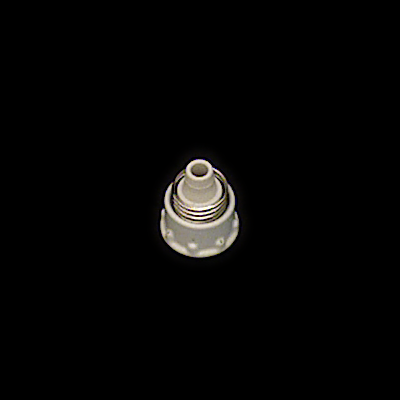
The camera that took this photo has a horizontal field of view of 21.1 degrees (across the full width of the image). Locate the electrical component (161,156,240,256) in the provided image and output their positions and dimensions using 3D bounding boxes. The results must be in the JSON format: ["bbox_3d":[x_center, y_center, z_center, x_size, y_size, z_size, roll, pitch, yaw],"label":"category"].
[{"bbox_3d":[0.000,0.000,0.634,0.048,0.048,0.062,0,-36,0],"label":"electrical component"}]
